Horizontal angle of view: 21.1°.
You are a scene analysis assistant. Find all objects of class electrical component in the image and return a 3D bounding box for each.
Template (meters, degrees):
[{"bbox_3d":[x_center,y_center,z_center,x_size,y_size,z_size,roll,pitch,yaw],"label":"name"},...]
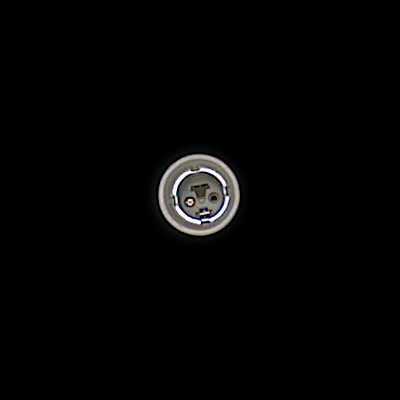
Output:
[{"bbox_3d":[0.000,0.000,0.624,0.044,0.044,0.065,0,-6,2],"label":"electrical component"}]
